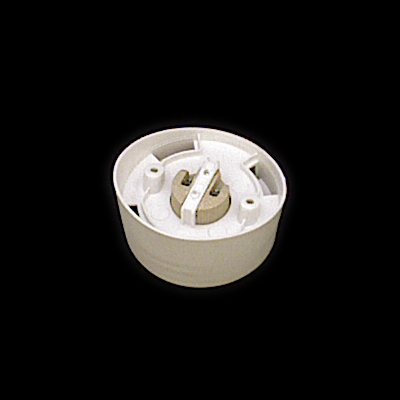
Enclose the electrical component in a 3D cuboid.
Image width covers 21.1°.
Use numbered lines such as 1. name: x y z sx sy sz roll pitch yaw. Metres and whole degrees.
1. electrical component: 0.000 0.000 0.625 0.099 0.098 0.064 0 -36 -1
